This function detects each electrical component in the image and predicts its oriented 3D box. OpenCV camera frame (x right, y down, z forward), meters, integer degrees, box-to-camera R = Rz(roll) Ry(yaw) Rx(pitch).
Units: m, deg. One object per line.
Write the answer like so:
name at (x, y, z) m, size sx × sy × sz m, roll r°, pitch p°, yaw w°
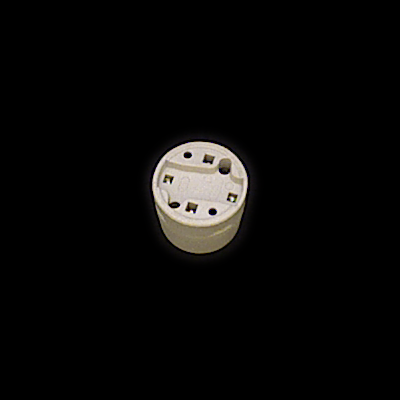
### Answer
electrical component at (0.000, 0.000, 0.634) m, size 0.055 × 0.056 × 0.047 m, roll 0°, pitch -27°, yaw 0°
